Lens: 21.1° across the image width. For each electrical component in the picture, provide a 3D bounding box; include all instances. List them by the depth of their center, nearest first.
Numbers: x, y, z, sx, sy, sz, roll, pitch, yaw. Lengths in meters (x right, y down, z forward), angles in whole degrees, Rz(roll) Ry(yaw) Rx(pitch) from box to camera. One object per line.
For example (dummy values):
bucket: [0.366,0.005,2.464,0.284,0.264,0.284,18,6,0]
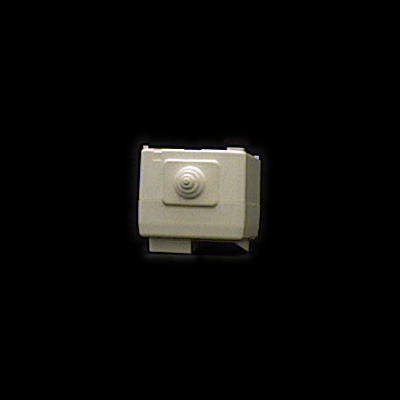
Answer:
electrical component: [0.000,0.000,0.642,0.062,0.061,0.096,2,0,10]
